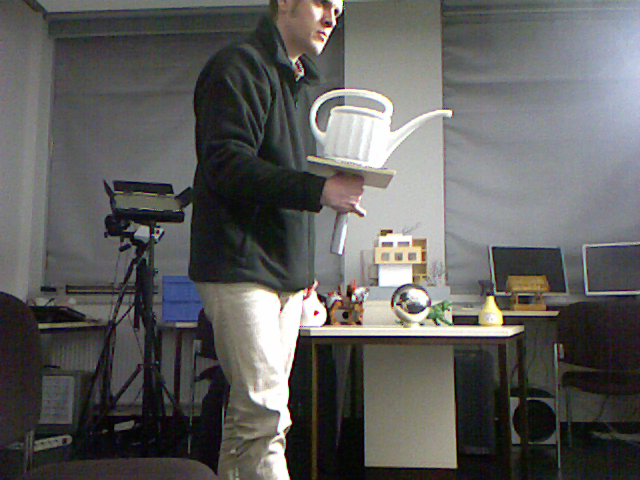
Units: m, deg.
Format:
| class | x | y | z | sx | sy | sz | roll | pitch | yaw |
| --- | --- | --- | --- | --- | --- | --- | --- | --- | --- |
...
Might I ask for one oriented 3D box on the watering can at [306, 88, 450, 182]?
| class | x | y | z | sx | sy | sz | roll | pitch | yaw |
| --- | --- | --- | --- | --- | --- | --- | --- | --- | --- |
| watering can | 0.132 | -0.252 | 1.267 | 0.349 | 0.224 | 0.104 | 10 | 4 | 3 |
